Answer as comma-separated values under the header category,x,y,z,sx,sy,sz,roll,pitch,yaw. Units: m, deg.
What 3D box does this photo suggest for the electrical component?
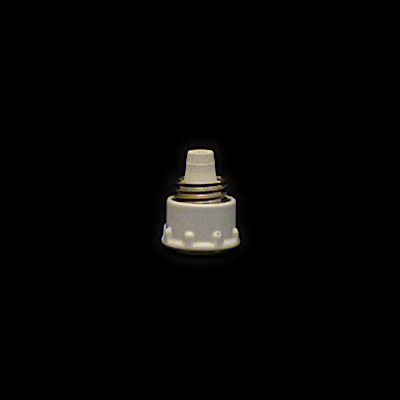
category,x,y,z,sx,sy,sz,roll,pitch,yaw
electrical component,0.000,0.000,0.650,0.048,0.062,0.048,0,11,1
